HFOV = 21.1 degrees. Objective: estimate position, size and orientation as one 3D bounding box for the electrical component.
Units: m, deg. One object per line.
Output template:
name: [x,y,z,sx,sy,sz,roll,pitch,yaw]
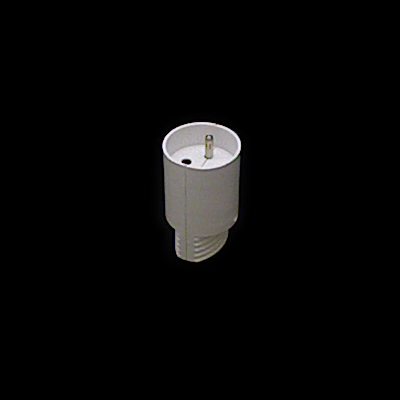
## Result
electrical component: [0.000,0.000,0.624,0.043,0.082,0.042,1,41,-1]
